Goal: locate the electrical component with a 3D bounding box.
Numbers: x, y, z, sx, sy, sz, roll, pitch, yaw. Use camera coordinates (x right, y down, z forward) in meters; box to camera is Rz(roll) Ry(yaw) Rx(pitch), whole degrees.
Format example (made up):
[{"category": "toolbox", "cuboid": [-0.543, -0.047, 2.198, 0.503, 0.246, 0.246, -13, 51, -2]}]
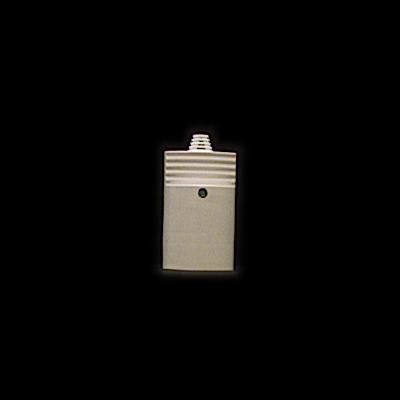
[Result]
[{"category": "electrical component", "cuboid": [0.000, 0.000, 0.649, 0.043, 0.081, 0.043, 1, 1, 0]}]
